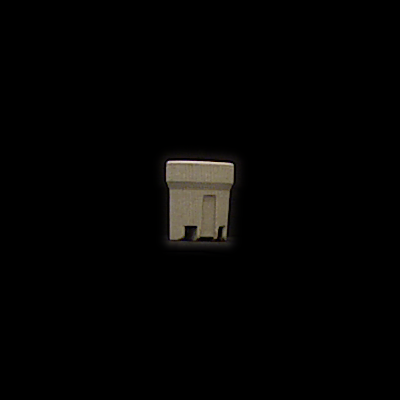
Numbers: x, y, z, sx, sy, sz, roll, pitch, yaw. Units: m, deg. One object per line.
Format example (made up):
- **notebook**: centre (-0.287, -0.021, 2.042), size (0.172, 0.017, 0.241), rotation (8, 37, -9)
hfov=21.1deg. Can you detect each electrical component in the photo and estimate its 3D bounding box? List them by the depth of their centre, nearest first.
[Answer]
- **electrical component**: centre (0.000, 0.000, 0.647), size (0.040, 0.046, 0.040), rotation (1, 1, 0)
